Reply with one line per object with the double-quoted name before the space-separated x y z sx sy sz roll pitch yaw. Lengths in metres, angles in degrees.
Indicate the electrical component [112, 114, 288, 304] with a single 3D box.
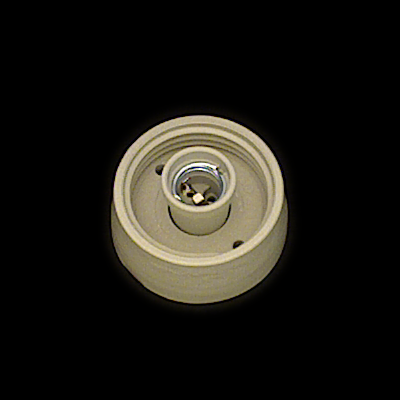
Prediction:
"electrical component" 0.000 0.000 0.633 0.108 0.108 0.060 0 -27 -1
